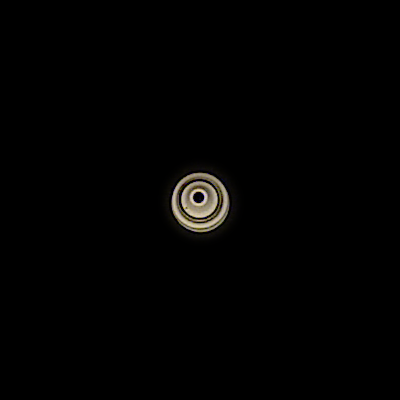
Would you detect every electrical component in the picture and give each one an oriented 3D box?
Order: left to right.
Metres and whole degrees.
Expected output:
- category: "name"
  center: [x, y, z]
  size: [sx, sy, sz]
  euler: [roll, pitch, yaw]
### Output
- category: "electrical component"
  center: [0.000, 0.000, 0.638]
  size: [0.035, 0.035, 0.061]
  euler: [0, -4, 1]
